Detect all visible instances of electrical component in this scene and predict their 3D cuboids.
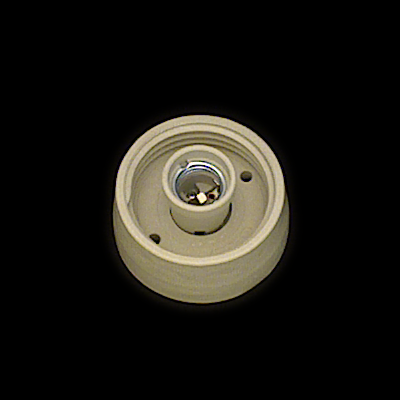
[{"bbox_3d":[0.000,0.000,0.634,0.108,0.108,0.060,0,-26,0],"label":"electrical component"}]
